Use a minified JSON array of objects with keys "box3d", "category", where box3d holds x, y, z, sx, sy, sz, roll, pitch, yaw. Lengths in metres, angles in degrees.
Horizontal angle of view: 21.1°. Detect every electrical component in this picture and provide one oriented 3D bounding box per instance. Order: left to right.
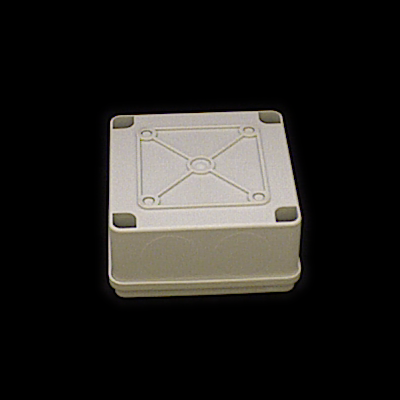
[{"box3d":[0.000,0.000,0.632,0.109,0.057,0.107,-2,41,-3],"category":"electrical component"}]
